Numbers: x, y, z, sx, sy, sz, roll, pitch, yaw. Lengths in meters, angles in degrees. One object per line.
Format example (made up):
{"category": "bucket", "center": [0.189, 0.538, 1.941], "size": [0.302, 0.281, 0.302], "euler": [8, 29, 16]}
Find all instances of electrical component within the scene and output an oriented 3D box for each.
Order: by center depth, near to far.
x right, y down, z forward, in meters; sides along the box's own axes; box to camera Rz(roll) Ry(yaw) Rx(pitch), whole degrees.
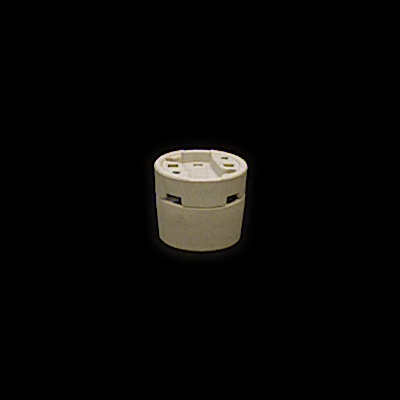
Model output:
{"category": "electrical component", "center": [0.000, 0.000, 0.641], "size": [0.055, 0.047, 0.055], "euler": [1, 21, 0]}
